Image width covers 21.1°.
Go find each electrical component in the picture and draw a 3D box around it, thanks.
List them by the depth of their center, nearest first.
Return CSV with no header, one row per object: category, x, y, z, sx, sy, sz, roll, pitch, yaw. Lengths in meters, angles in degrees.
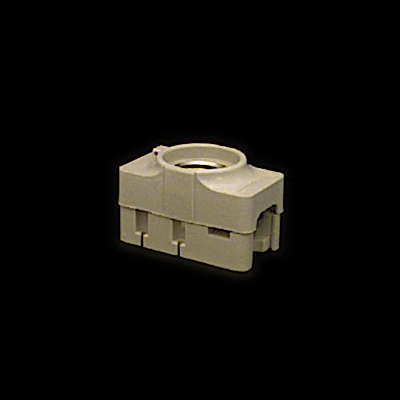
electrical component,0.000,0.000,0.647,0.088,0.056,0.050,13,25,27
